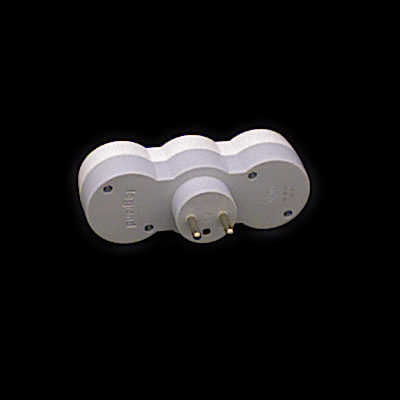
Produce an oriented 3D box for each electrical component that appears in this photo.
[{"bbox_3d":[0.000,0.000,0.638,0.138,0.053,0.073,-5,34,-12],"label":"electrical component"}]
